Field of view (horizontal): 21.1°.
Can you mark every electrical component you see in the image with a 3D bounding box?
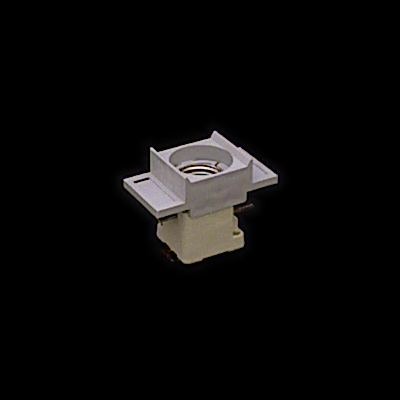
[{"bbox_3d":[0.000,0.000,0.635,0.081,0.064,0.041,-16,34,-25],"label":"electrical component"}]
